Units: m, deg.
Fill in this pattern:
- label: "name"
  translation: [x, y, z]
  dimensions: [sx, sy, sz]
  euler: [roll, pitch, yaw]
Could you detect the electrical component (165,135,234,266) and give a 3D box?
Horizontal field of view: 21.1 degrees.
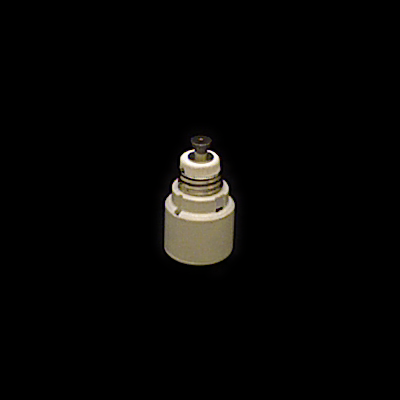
- label: "electrical component"
  translation: [0.000, 0.000, 0.629]
  dimensions: [0.040, 0.079, 0.039]
  euler: [1, 30, 0]
